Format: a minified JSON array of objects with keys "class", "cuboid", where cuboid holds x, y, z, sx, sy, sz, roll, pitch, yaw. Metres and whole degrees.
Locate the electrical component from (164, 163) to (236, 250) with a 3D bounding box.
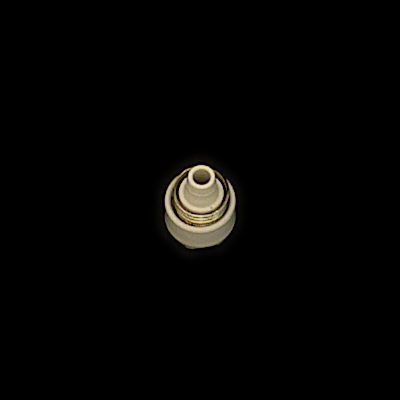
[{"class":"electrical component","cuboid":[0.000,0.000,0.634,0.043,0.043,0.062,0,-27,-1]}]
